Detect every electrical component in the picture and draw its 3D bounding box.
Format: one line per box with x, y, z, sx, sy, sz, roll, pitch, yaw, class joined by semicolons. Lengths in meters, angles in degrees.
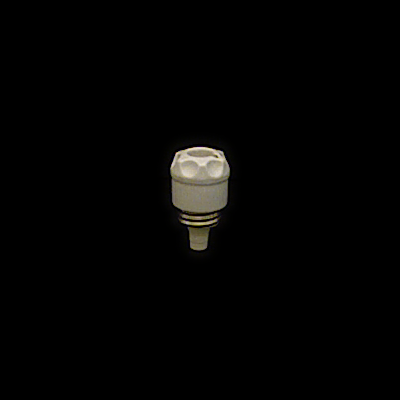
0.000;0.000;0.644;0.035;0.062;0.035;1;22;0;electrical component
